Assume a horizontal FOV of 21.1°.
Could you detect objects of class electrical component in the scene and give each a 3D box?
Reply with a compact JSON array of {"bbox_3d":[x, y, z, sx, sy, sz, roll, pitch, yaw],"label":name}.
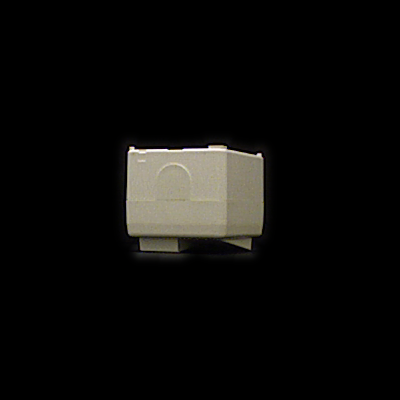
[{"bbox_3d":[0.000,0.000,0.658,0.061,0.061,0.096,1,0,20],"label":"electrical component"}]
